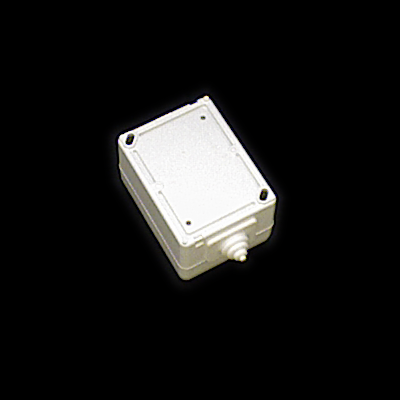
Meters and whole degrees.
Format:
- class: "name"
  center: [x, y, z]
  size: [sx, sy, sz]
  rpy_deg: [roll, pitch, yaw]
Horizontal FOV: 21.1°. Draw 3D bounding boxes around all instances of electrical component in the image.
- class: "electrical component"
  center: [0.000, 0.000, 0.623]
  size: [0.062, 0.096, 0.060]
  rpy_deg: [-26, -25, -14]
